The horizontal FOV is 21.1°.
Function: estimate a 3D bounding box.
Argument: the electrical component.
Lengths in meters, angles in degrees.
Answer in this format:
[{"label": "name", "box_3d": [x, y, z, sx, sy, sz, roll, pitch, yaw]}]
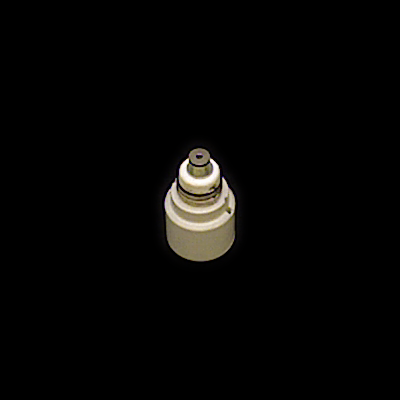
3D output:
[{"label": "electrical component", "box_3d": [0.000, 0.000, 0.620, 0.040, 0.040, 0.079, 0, -38, 1]}]
